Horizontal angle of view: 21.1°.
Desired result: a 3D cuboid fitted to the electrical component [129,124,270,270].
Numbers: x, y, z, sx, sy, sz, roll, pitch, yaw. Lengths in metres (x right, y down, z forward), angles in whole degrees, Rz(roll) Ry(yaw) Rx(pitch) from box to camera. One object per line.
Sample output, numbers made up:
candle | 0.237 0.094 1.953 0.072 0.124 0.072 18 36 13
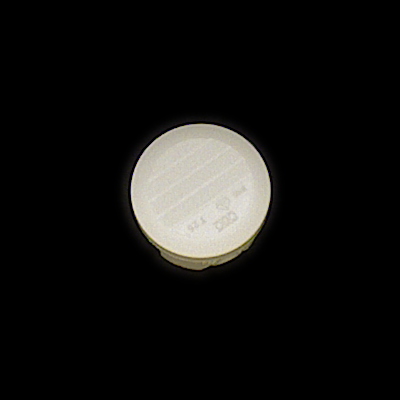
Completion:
electrical component | 0.000 0.000 0.629 0.080 0.080 0.050 0 -17 0
